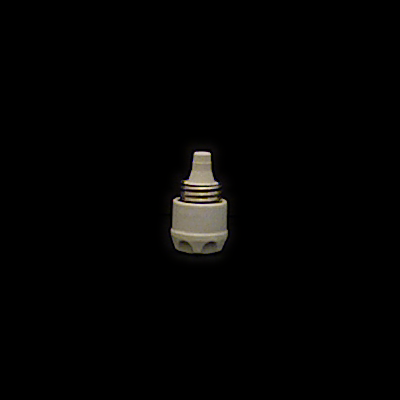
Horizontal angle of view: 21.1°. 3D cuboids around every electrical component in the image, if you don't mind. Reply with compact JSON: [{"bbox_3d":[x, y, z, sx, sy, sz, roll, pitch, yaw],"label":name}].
[{"bbox_3d":[0.000,0.000,0.658,0.035,0.062,0.035,3,12,0],"label":"electrical component"}]
